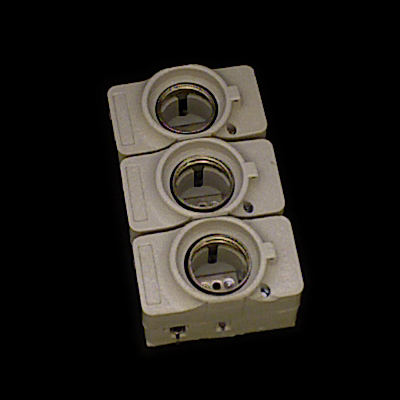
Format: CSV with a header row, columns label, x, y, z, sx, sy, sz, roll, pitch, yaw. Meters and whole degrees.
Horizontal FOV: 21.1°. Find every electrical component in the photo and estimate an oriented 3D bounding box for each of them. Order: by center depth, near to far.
label,x,y,z,sx,sy,sz,roll,pitch,yaw
electrical component,0.000,0.000,0.632,0.089,0.149,0.062,-9,-26,-5
